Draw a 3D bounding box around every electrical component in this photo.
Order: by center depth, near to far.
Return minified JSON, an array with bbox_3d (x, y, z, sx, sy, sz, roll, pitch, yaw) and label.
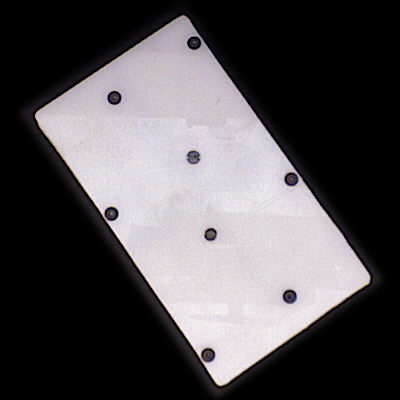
[{"bbox_3d":[0.000,0.000,0.626,0.106,0.186,0.060,-35,-6,-4],"label":"electrical component"}]
